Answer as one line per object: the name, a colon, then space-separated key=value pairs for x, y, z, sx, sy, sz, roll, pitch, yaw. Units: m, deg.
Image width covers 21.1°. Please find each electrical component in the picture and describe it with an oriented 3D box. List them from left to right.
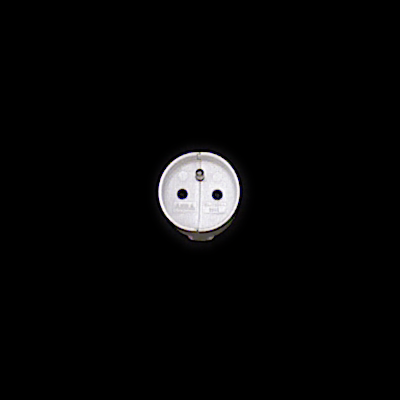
electrical component: x=0.000 y=0.000 z=0.616 sx=0.043 sy=0.043 sz=0.080 roll=0 pitch=-7 yaw=0
